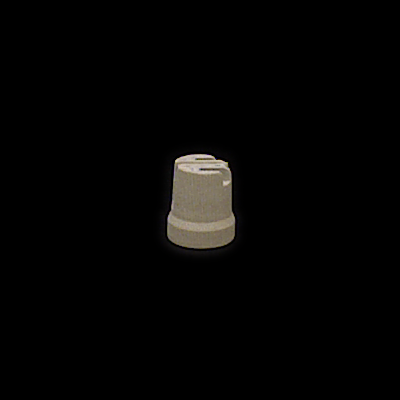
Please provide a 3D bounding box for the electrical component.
[{"bbox_3d":[0.000,0.000,0.641,0.040,0.046,0.040,1,22,0],"label":"electrical component"}]
